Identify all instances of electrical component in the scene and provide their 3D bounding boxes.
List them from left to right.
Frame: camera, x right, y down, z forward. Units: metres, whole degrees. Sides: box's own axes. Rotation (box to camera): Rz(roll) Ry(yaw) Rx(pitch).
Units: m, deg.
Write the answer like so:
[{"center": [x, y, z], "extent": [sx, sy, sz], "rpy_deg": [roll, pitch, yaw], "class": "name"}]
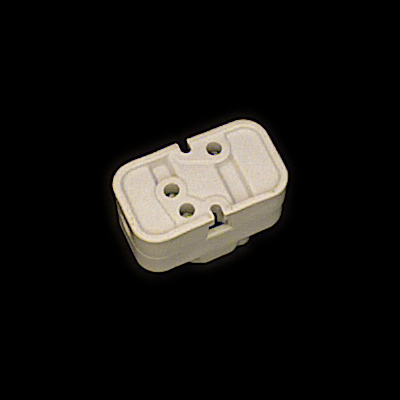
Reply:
[{"center": [0.000, 0.000, 0.634], "extent": [0.095, 0.053, 0.059], "rpy_deg": [-22, -25, -11], "class": "electrical component"}]
